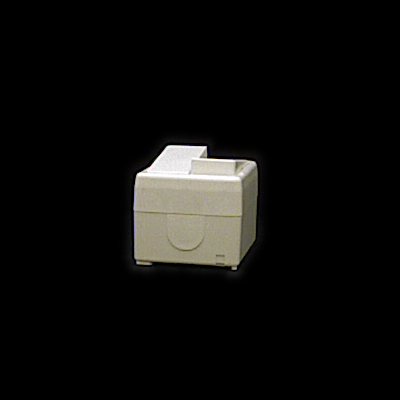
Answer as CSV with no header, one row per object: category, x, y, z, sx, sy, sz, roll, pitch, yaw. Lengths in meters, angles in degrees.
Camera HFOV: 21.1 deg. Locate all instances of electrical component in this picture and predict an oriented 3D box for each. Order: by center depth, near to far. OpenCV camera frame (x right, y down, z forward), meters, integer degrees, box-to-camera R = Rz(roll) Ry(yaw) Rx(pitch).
electrical component,0.000,0.000,0.647,0.061,0.061,0.095,3,11,10
